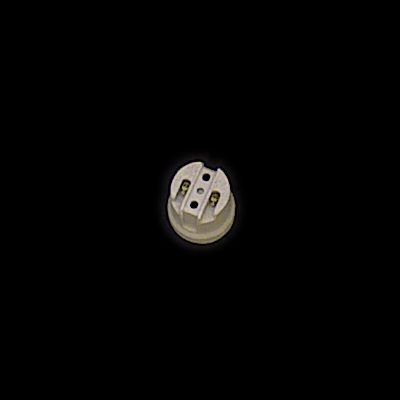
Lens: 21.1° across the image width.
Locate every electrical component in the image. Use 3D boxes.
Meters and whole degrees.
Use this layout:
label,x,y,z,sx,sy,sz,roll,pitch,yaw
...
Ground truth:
label,x,y,z,sx,sy,sz,roll,pitch,yaw
electrical component,0.000,0.000,0.633,0.040,0.040,0.046,0,-17,1
